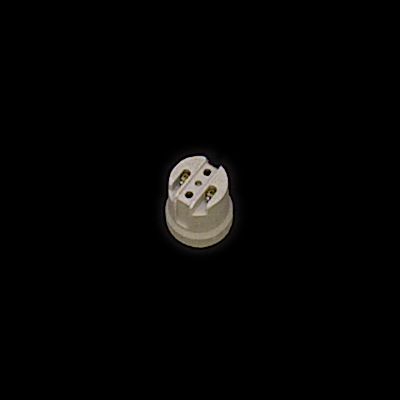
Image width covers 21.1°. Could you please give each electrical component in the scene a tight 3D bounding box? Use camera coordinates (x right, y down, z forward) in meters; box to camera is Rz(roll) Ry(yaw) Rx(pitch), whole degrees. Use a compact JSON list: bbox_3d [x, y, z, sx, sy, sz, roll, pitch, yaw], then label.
[{"bbox_3d":[0.000,0.000,0.633,0.040,0.040,0.046,0,-27,0],"label":"electrical component"}]
